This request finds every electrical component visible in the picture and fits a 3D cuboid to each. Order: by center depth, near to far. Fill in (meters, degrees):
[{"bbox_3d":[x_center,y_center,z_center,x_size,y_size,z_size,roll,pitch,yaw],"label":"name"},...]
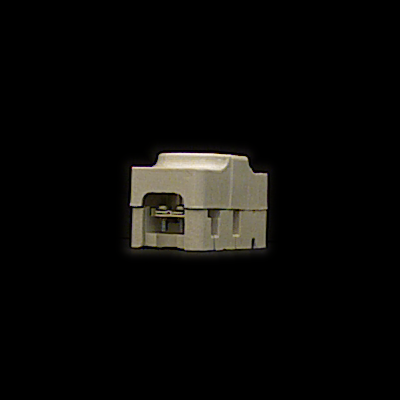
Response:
[{"bbox_3d":[0.000,0.000,0.657,0.050,0.056,0.090,2,1,29],"label":"electrical component"}]
